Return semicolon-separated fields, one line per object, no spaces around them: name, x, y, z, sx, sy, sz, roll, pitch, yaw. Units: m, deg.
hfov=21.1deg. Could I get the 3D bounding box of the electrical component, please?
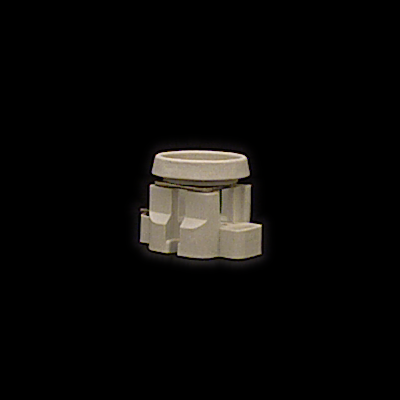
electrical component;0.000;0.000;0.644;0.078;0.057;0.058;9;13;36
